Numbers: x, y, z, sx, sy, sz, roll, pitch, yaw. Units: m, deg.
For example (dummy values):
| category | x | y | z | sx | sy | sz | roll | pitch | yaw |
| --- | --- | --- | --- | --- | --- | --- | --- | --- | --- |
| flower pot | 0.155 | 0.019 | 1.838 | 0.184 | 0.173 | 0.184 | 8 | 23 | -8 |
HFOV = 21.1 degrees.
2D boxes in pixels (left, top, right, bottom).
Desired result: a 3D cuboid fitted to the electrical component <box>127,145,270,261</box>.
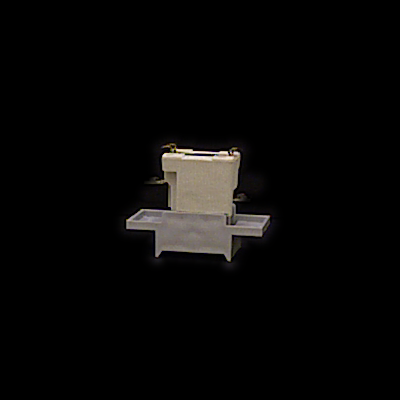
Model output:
| category | x | y | z | sx | sy | sz | roll | pitch | yaw |
| --- | --- | --- | --- | --- | --- | --- | --- | --- | --- |
| electrical component | 0.000 | 0.000 | 0.644 | 0.081 | 0.064 | 0.042 | 3 | 11 | 9 |
